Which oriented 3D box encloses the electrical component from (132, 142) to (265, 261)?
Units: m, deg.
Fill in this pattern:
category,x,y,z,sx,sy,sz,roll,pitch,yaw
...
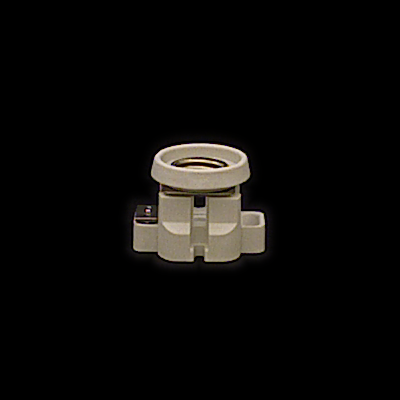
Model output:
category,x,y,z,sx,sy,sz,roll,pitch,yaw
electrical component,0.000,0.000,0.638,0.078,0.057,0.057,1,21,-1
